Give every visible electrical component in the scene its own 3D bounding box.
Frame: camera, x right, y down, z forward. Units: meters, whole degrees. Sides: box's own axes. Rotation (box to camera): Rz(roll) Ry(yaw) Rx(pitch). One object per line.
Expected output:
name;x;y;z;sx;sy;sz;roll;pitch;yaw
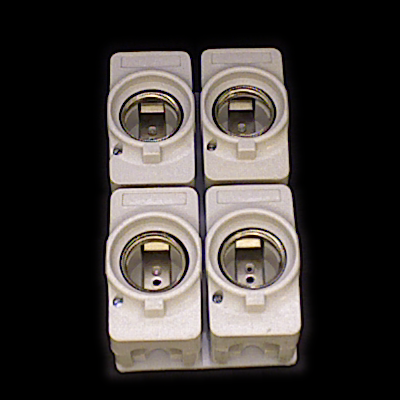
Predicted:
electrical component;0.000;0.000;0.625;0.105;0.186;0.060;-2;-27;-1
